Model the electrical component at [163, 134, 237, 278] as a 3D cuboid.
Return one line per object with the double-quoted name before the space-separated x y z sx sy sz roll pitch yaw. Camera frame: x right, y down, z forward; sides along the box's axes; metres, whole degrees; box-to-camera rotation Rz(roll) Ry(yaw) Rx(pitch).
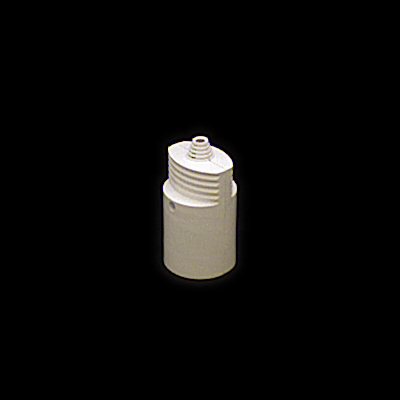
"electrical component" 0.000 0.000 0.629 0.043 0.082 0.042 1 31 0
